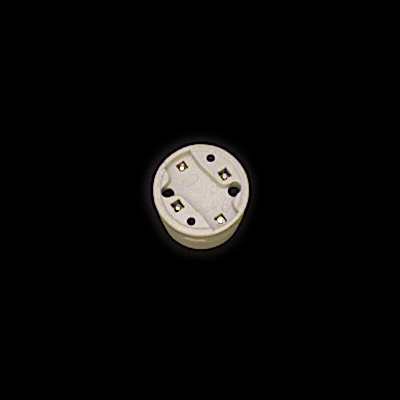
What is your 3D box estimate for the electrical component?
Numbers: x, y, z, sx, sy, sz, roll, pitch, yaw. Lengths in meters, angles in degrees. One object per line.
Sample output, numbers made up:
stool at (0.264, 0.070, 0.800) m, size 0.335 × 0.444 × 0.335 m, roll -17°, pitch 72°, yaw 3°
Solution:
electrical component at (0.000, 0.000, 0.634) m, size 0.055 × 0.056 × 0.047 m, roll 0°, pitch -17°, yaw 1°
